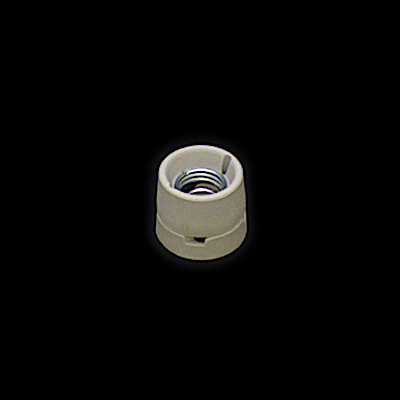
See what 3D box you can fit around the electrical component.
[{"bbox_3d":[0.000,0.000,0.635,0.055,0.047,0.055,0,42,0],"label":"electrical component"}]
